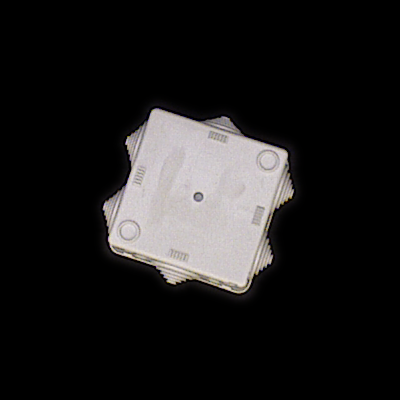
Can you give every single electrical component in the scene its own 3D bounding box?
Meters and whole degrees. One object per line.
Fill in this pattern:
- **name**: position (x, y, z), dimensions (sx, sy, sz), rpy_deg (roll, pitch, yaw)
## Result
- **electrical component**: position (0.000, 0.000, 0.632), dimensions (0.100, 0.100, 0.048), rpy_deg (18, -6, 2)
